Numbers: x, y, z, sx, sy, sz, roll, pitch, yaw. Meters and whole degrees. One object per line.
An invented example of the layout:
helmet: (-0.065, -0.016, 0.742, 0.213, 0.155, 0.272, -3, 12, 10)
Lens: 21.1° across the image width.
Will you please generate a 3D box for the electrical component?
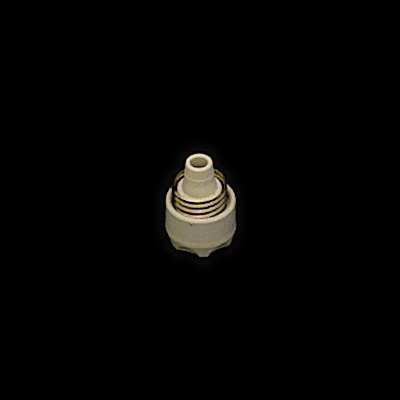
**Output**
electrical component: (0.000, 0.000, 0.637, 0.043, 0.062, 0.043, 0, 43, 1)
